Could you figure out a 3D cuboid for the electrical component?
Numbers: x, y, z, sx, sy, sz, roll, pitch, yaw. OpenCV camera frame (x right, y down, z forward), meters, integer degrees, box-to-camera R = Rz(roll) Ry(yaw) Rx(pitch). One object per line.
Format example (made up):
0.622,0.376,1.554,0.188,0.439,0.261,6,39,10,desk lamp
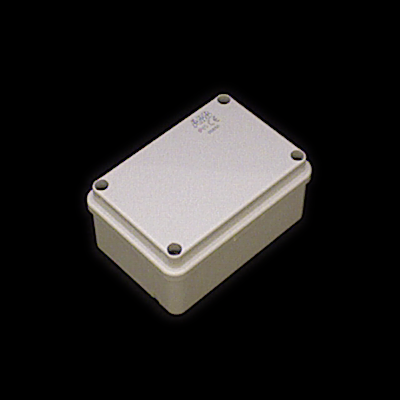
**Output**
0.000,0.000,0.629,0.113,0.057,0.077,-37,61,-25,electrical component
